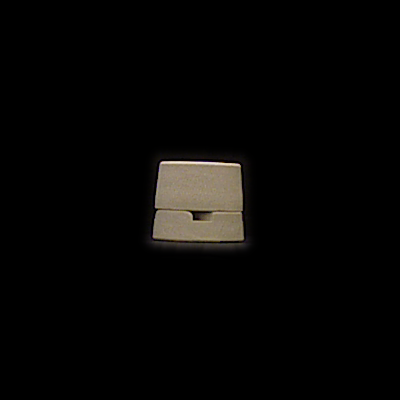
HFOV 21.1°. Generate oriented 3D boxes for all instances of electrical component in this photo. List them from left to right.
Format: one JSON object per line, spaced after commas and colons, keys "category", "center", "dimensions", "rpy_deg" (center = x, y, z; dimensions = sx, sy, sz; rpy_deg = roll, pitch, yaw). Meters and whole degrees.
{"category": "electrical component", "center": [0.000, 0.000, 0.649], "dimensions": [0.055, 0.047, 0.055], "rpy_deg": [2, 2, 0]}
